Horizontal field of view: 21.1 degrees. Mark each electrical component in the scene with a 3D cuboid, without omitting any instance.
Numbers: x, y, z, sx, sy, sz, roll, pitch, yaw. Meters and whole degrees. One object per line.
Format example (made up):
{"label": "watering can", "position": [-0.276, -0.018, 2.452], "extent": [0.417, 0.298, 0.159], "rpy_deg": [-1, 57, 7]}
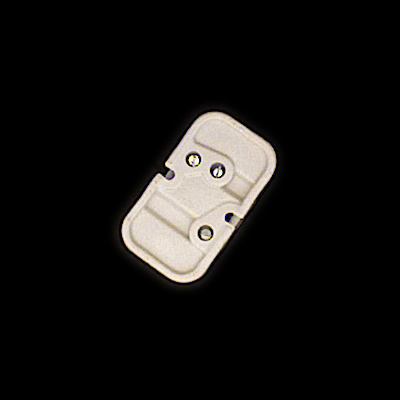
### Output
{"label": "electrical component", "position": [0.000, 0.000, 0.636], "extent": [0.053, 0.095, 0.059], "rpy_deg": [35, -4, 4]}
